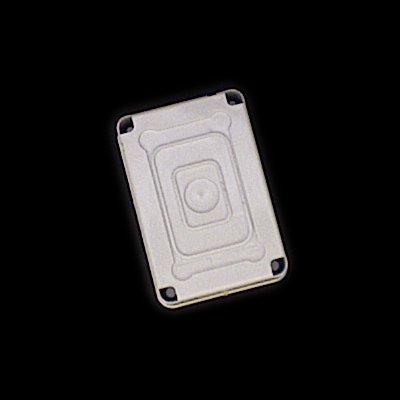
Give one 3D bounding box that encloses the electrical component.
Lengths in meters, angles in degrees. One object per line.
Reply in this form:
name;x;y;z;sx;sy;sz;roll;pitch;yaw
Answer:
electrical component;0.000;0.000;0.628;0.078;0.113;0.057;-14;-6;-1
